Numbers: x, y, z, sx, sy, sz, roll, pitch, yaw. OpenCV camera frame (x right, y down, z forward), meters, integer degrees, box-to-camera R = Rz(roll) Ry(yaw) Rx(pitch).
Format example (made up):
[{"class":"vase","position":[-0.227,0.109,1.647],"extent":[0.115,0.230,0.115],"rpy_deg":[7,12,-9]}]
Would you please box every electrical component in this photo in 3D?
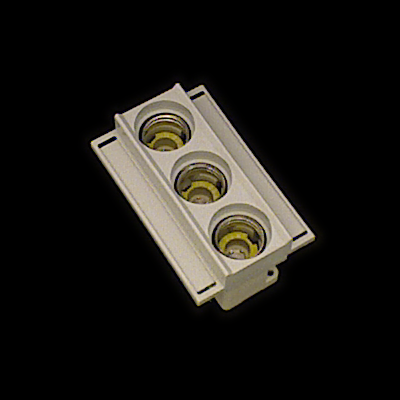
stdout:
[{"class":"electrical component","position":[0.000,0.000,0.638],"extent":[0.079,0.121,0.063],"rpy_deg":[-29,-23,-15]}]
